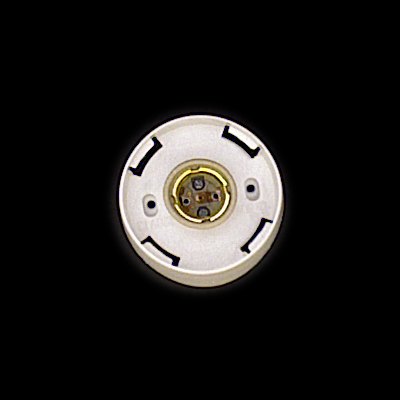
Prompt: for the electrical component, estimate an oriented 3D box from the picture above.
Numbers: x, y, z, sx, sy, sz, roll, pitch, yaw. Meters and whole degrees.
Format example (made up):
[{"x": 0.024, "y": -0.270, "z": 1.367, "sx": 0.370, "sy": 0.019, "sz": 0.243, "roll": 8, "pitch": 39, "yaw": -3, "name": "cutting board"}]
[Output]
[{"x": 0.000, "y": 0.000, "z": 0.625, "sx": 0.099, "sy": 0.099, "sz": 0.064, "roll": 0, "pitch": -6, "yaw": 0, "name": "electrical component"}]
